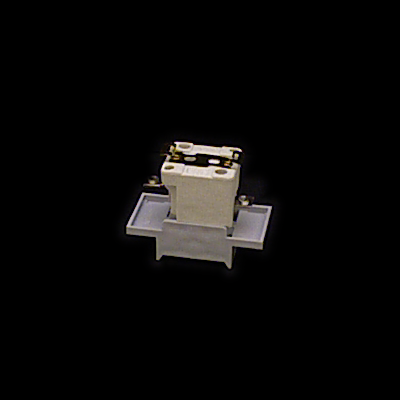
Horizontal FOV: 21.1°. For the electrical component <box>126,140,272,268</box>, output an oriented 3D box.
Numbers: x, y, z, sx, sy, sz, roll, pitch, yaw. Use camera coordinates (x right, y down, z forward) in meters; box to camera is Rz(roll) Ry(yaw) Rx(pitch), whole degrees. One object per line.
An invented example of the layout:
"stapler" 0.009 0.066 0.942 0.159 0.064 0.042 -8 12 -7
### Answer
"electrical component" 0.000 0.000 0.634 0.081 0.064 0.041 6 32 8
